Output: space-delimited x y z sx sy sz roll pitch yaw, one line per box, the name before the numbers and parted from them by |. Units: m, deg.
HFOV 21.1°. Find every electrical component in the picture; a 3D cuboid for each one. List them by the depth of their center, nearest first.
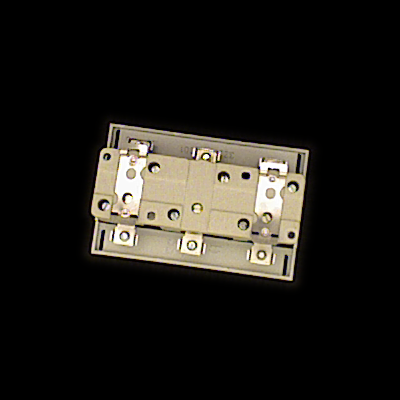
electrical component | 0.000 0.000 0.635 0.121 0.079 0.063 8 -7 1
